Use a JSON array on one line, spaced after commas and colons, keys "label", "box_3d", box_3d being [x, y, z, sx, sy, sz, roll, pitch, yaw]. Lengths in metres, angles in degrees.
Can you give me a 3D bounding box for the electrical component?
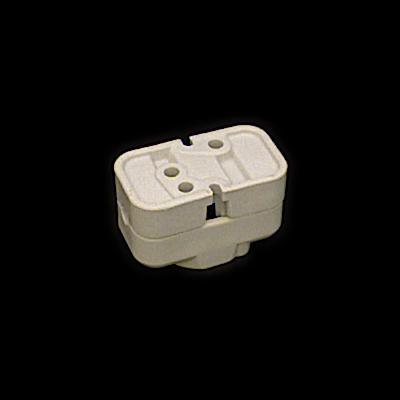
[{"label": "electrical component", "box_3d": [0.000, 0.000, 0.637, 0.095, 0.060, 0.053, -14, 45, -17]}]
